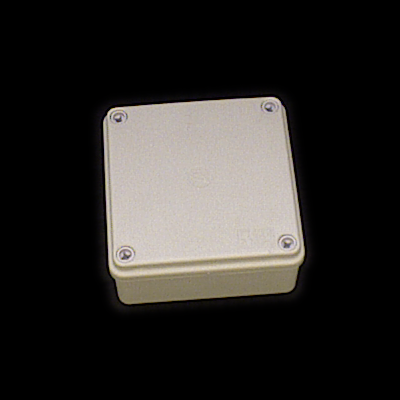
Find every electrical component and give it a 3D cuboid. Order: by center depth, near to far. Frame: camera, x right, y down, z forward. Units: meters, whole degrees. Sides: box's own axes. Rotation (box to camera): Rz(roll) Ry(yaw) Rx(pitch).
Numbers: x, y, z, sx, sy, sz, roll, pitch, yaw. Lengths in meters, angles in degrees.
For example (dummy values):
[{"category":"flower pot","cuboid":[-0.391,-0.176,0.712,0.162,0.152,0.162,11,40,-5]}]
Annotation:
[{"category":"electrical component","cuboid":[0.000,0.000,0.630,0.109,0.109,0.056,-4,-28,-2]}]
